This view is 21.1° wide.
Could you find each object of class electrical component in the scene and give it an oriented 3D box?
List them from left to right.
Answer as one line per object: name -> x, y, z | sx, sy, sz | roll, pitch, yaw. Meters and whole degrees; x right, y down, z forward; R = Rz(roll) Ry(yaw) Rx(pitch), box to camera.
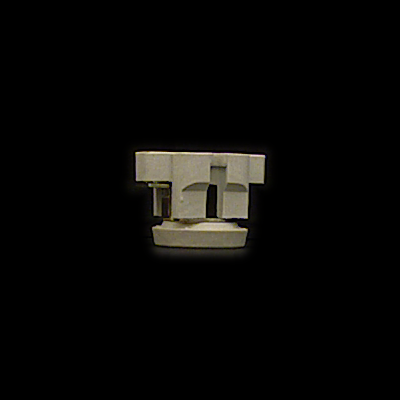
electrical component -> 0.000, 0.000, 0.654 | 0.079, 0.057, 0.057 | -1, 3, -25
